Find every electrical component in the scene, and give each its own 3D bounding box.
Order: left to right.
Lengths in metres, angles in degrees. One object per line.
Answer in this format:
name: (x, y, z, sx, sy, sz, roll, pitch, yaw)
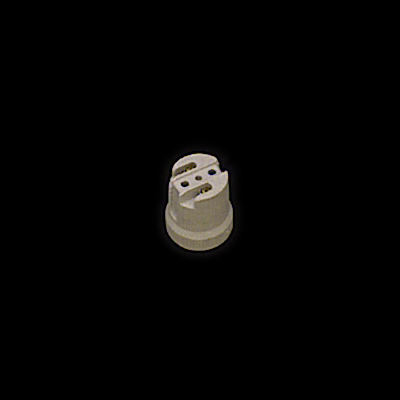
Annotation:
electrical component: (0.000, 0.000, 0.634, 0.040, 0.040, 0.046, 0, -38, -1)
